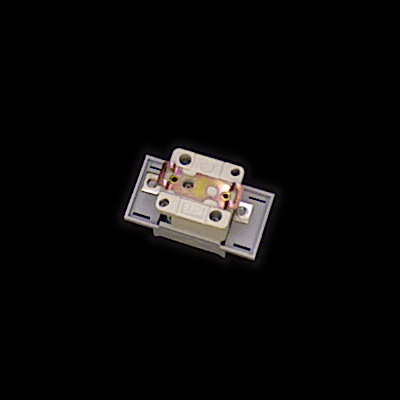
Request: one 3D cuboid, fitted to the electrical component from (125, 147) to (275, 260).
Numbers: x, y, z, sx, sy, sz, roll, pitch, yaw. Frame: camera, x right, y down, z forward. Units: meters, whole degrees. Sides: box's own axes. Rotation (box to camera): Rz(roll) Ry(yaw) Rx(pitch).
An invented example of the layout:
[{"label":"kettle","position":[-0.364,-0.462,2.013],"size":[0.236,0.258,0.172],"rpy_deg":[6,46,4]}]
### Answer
[{"label":"electrical component","position":[0.000,0.000,0.625],"size":[0.081,0.042,0.063],"rpy_deg":[17,-16,5]}]
